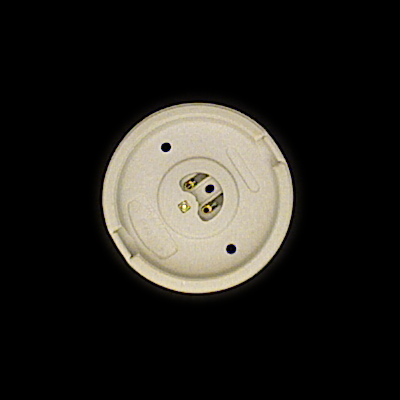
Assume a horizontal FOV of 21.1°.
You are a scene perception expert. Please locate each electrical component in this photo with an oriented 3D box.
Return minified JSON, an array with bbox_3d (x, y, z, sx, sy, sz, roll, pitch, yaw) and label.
[{"bbox_3d":[0.000,0.000,0.634,0.108,0.108,0.060,0,-6,0],"label":"electrical component"}]
